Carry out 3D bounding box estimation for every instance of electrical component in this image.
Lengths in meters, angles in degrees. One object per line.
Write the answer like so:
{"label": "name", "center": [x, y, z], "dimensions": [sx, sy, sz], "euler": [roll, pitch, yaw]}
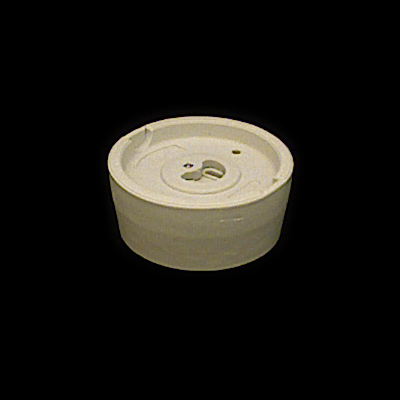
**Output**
{"label": "electrical component", "center": [0.000, 0.000, 0.641], "dimensions": [0.108, 0.061, 0.106], "euler": [1, 32, 0]}
